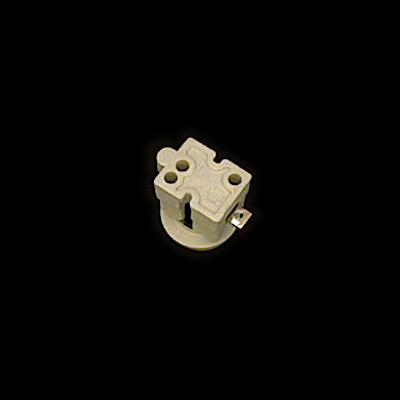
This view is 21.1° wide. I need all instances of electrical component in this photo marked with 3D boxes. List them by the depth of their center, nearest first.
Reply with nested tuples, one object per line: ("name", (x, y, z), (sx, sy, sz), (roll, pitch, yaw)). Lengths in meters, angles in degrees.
("electrical component", (0.000, 0.000, 0.637), (0.066, 0.049, 0.055), (32, -23, 14))
